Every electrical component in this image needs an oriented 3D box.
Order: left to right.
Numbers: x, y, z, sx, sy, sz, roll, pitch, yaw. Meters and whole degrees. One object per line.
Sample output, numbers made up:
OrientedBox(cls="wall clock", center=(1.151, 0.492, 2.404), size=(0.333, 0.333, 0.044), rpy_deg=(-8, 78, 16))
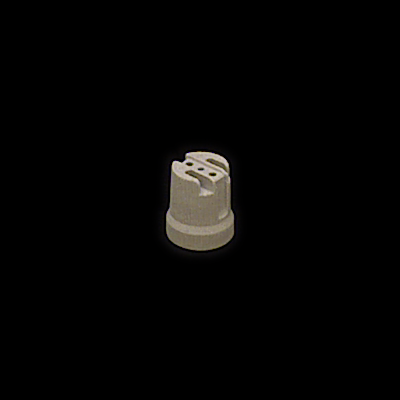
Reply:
OrientedBox(cls="electrical component", center=(0.000, 0.000, 0.637), size=(0.040, 0.046, 0.040), rpy_deg=(0, 32, 0))
